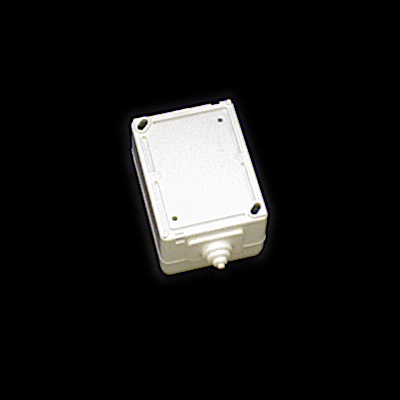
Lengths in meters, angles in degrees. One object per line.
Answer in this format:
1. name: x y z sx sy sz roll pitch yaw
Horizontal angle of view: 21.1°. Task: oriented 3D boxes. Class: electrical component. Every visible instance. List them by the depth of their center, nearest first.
1. electrical component: -0.001 0.000 0.623 0.062 0.097 0.060 -12 -27 -7
